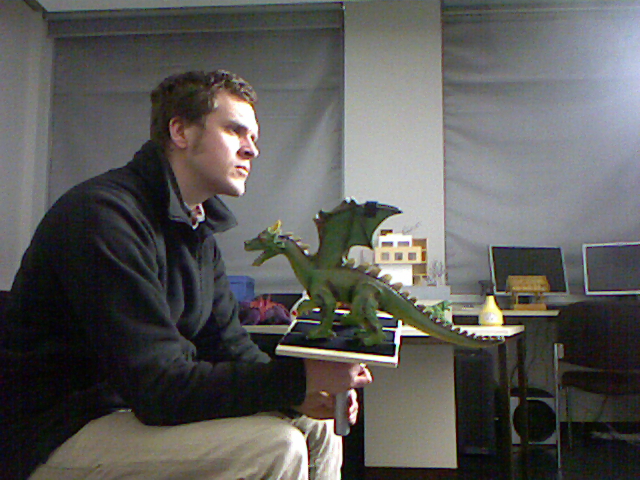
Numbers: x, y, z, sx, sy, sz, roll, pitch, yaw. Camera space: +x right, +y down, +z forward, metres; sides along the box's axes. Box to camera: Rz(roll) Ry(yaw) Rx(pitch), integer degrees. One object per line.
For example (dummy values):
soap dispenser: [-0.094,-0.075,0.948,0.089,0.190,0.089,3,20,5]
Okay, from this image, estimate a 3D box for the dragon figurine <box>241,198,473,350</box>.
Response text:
dragon figurine: [0.063,0.049,0.901,0.411,0.240,0.124,4,17,12]
